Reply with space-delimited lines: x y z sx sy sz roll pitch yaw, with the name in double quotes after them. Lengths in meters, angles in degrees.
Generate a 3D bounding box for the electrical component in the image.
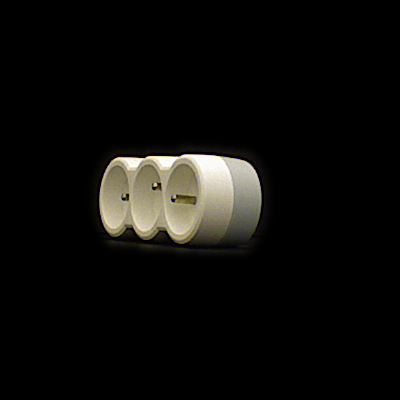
0.000 0.000 0.657 0.074 0.052 0.137 2 0 -30 "electrical component"
